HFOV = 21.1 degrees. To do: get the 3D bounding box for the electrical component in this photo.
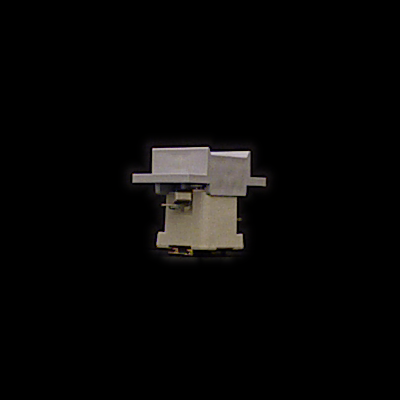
[{"bbox_3d":[0.000,0.000,0.652,0.042,0.064,0.081,1,0,37],"label":"electrical component"}]
